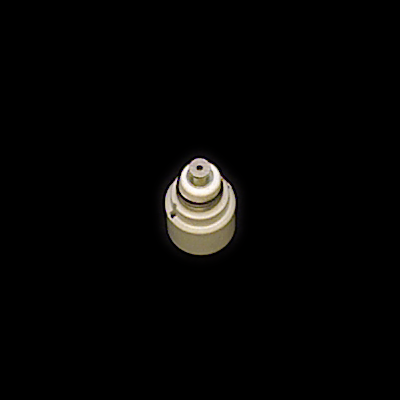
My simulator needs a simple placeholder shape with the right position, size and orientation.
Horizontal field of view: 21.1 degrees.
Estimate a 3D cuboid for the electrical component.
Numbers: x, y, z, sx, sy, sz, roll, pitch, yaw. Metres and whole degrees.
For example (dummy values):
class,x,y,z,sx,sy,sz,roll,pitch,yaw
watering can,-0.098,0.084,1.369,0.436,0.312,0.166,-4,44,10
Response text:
class,x,y,z,sx,sy,sz,roll,pitch,yaw
electrical component,0.000,0.000,0.619,0.040,0.040,0.078,0,-26,0
